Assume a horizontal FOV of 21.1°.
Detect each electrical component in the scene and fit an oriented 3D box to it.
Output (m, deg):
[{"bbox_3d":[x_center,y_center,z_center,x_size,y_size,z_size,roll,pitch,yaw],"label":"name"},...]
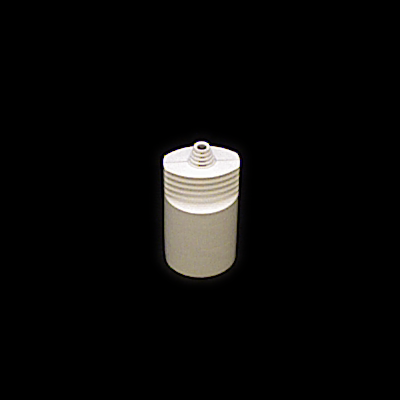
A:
[{"bbox_3d":[0.000,0.000,0.624,0.043,0.082,0.042,1,42,0],"label":"electrical component"}]
